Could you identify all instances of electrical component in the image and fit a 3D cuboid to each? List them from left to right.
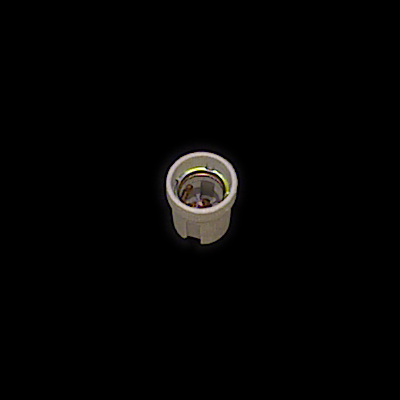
[{"bbox_3d":[0.000,0.000,0.629,0.040,0.040,0.046,0,-28,0],"label":"electrical component"}]
